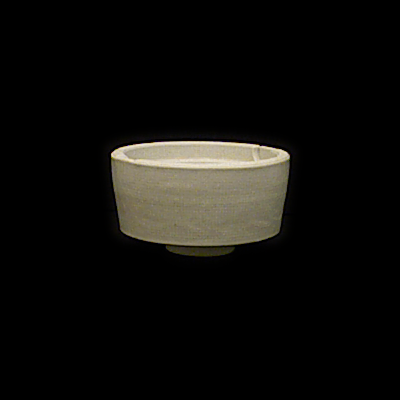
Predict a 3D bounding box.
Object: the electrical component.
[{"bbox_3d":[0.000,0.000,0.655,0.108,0.061,0.107,1,11,0],"label":"electrical component"}]
